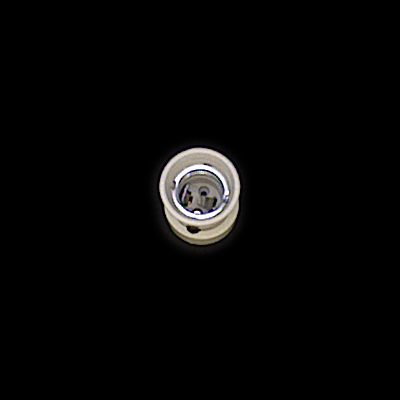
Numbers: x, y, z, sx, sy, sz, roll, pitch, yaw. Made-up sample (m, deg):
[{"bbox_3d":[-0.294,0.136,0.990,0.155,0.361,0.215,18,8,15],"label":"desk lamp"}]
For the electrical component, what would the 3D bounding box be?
[{"bbox_3d":[0.000,0.000,0.628,0.045,0.045,0.055,0,-17,1],"label":"electrical component"}]
